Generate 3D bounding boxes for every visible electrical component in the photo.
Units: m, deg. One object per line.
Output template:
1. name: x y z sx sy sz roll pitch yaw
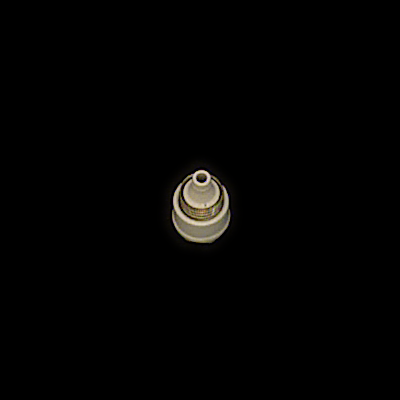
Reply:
1. electrical component: 0.000 0.000 0.638 0.035 0.035 0.061 0 -26 -1
